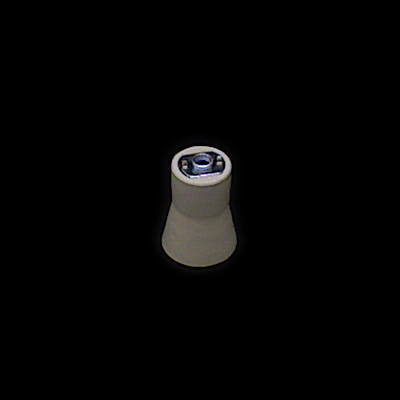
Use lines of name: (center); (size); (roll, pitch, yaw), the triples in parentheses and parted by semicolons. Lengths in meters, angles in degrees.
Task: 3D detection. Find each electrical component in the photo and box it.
electrical component: (0.000, 0.000, 0.628); (0.044, 0.066, 0.044); (1, 43, -1)
